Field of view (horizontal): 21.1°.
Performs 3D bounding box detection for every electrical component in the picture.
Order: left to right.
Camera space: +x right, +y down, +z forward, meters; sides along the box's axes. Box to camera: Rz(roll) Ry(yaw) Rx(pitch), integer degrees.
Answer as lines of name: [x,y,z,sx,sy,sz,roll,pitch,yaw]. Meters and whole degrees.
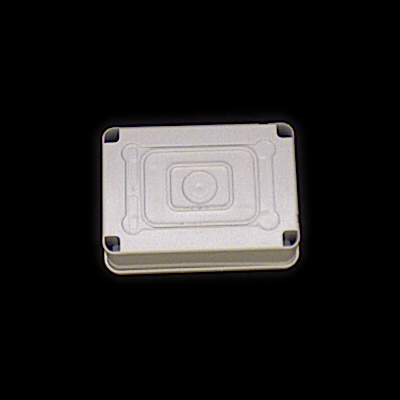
electrical component: [0.000,0.000,0.628,0.113,0.078,0.057,-2,-17,0]
